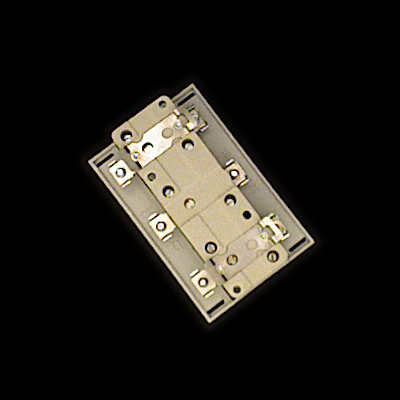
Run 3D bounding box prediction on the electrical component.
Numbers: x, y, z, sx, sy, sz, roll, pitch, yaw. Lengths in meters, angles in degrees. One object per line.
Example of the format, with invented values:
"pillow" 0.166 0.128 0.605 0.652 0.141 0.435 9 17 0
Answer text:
"electrical component" 0.000 0.000 0.635 0.079 0.121 0.063 -37 -5 -4
